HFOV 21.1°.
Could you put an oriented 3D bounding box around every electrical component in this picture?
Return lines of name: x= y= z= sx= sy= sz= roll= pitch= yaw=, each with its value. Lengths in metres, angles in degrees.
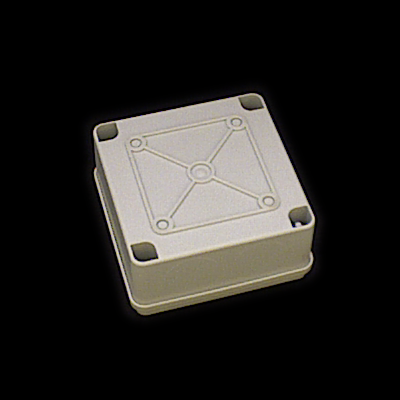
electrical component: x=0.000 y=0.000 z=0.629 sx=0.109 sy=0.108 sz=0.056 roll=-12 pitch=-36 yaw=-10
